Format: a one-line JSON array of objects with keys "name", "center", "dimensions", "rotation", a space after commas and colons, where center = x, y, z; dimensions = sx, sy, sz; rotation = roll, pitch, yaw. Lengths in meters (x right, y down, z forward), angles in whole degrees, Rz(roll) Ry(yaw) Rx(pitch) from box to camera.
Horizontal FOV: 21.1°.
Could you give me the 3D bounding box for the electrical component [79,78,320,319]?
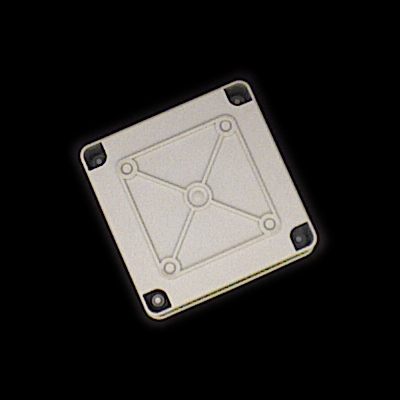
[{"name": "electrical component", "center": [0.000, 0.000, 0.628], "dimensions": [0.109, 0.109, 0.056], "rotation": [-24, -6, -2]}]
